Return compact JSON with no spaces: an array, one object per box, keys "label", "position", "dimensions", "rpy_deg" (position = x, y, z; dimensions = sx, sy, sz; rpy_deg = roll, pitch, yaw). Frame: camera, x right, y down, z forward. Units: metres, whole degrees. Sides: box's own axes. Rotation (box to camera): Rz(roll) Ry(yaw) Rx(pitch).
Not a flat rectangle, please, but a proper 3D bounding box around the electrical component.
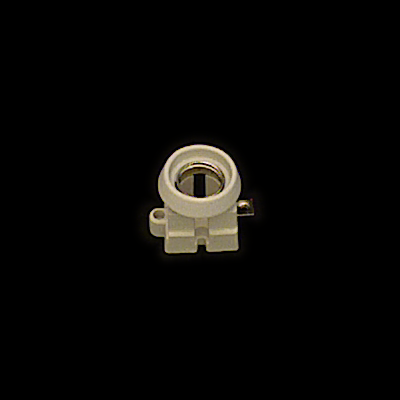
[{"label":"electrical component","position":[0.000,0.000,0.639],"dimensions":[0.066,0.048,0.056],"rpy_deg":[-3,-35,-3]}]
